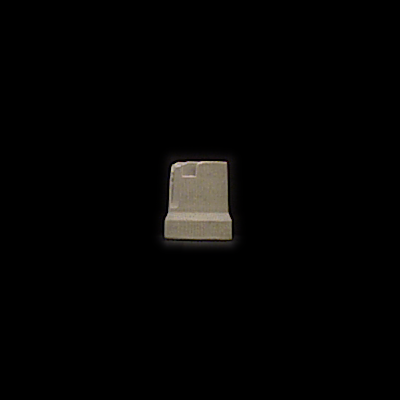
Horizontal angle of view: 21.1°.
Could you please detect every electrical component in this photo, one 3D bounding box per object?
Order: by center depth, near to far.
[{"bbox_3d":[0.000,0.000,0.650,0.040,0.046,0.040,1,1,0],"label":"electrical component"}]
